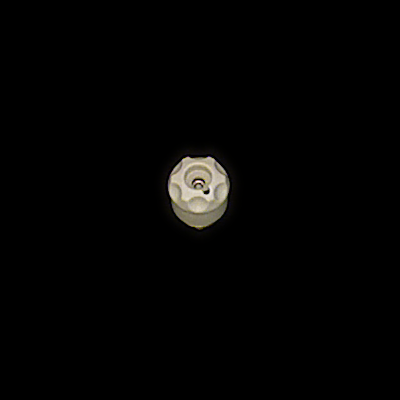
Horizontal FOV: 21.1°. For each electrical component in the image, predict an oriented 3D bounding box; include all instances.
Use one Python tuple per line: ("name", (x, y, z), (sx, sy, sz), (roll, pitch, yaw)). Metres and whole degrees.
("electrical component", (0.000, 0.000, 0.632), (0.035, 0.035, 0.061), (0, -26, 0))
